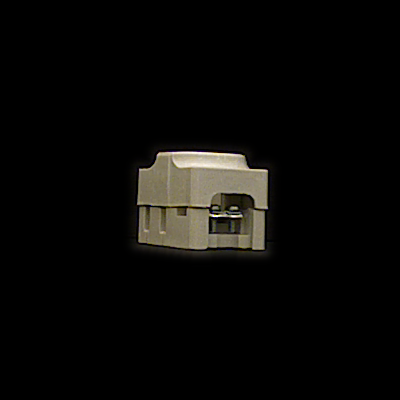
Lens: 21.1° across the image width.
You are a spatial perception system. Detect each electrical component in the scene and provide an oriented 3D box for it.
[{"bbox_3d":[0.000,0.000,0.657,0.050,0.056,0.089,1,1,-26],"label":"electrical component"}]
